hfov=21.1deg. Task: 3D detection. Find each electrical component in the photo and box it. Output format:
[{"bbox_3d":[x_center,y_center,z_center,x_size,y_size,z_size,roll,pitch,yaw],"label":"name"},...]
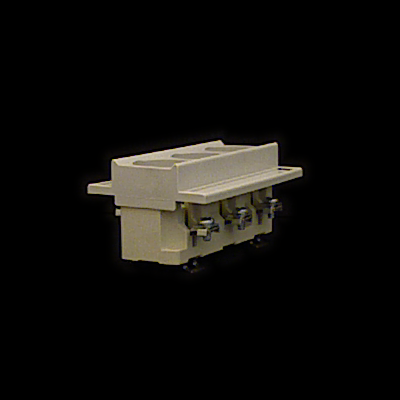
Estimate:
[{"bbox_3d":[0.000,0.000,0.656,0.078,0.063,0.121,6,12,31],"label":"electrical component"}]
